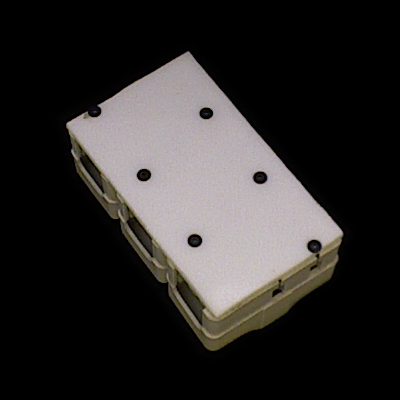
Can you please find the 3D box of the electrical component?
[{"bbox_3d":[0.000,0.000,0.631,0.089,0.149,0.062,-32,-22,-15],"label":"electrical component"}]
